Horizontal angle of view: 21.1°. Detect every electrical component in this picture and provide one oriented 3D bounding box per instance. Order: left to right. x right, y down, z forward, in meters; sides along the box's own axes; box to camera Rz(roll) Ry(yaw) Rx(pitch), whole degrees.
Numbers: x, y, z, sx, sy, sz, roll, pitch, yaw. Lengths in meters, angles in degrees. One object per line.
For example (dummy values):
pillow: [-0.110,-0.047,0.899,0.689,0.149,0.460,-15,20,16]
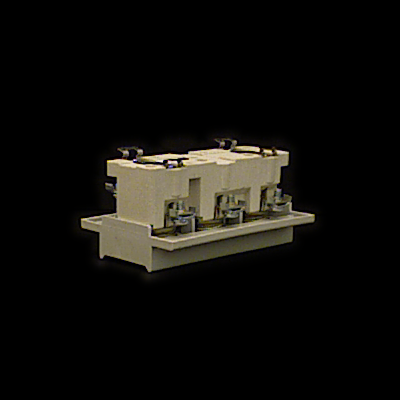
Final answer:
electrical component: [0.000,0.000,0.650,0.078,0.063,0.122,13,16,43]
